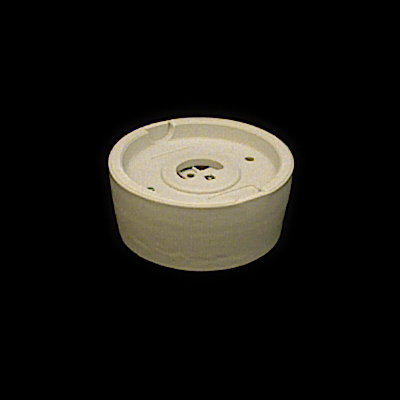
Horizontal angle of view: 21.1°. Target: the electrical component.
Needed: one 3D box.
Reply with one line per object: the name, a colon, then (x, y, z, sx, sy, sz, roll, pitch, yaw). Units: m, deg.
electrical component: (0.000, 0.000, 0.640, 0.108, 0.061, 0.106, 1, 32, 0)
